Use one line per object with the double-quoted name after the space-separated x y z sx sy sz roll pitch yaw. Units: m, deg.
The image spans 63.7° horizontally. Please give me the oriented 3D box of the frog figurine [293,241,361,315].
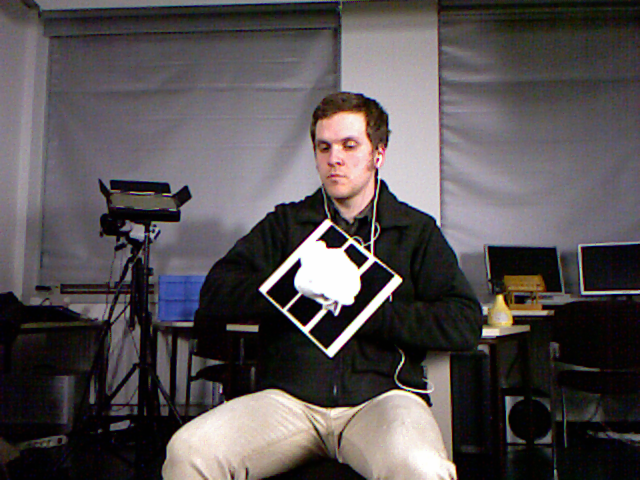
0.010 0.061 0.941 0.123 0.140 0.157 -25 -21 -1 "frog figurine"
